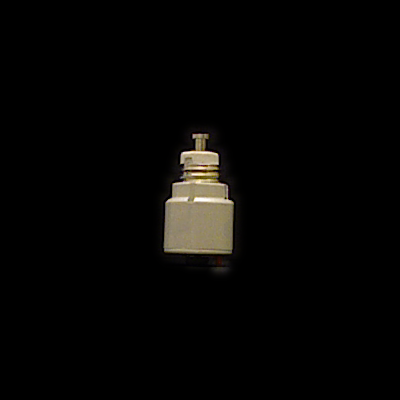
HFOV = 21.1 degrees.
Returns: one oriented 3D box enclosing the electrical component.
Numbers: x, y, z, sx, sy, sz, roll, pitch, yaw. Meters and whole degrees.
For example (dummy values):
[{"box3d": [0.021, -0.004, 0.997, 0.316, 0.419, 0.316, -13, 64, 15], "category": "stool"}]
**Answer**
[{"box3d": [0.000, 0.000, 0.648, 0.040, 0.078, 0.040, 1, 0, 0], "category": "electrical component"}]
